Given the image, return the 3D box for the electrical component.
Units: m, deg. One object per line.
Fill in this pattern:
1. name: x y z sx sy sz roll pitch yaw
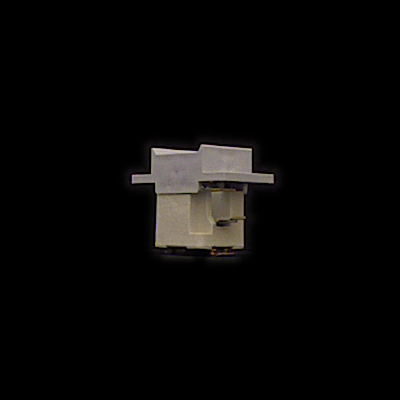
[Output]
1. electrical component: 0.000 0.000 0.648 0.042 0.063 0.081 2 -1 -43
